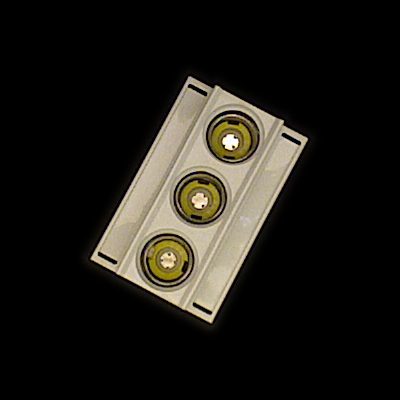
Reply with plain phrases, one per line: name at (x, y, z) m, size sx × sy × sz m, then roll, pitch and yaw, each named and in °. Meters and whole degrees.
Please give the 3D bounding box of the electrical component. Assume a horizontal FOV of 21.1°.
electrical component at (0.000, 0.000, 0.637) m, size 0.079 × 0.121 × 0.063 m, roll 28°, pitch -5°, yaw 2°
